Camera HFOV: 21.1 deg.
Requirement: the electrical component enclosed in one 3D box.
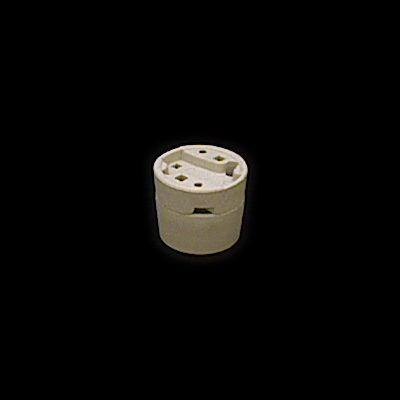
[{"bbox_3d":[0.000,0.000,0.639,0.055,0.047,0.055,1,31,0],"label":"electrical component"}]
